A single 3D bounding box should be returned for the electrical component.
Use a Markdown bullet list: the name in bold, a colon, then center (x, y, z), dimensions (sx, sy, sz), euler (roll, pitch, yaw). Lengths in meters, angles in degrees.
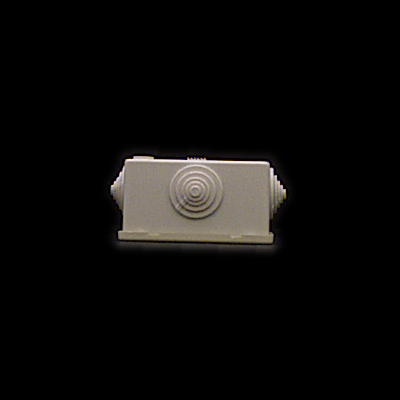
- **electrical component**: center (0.000, 0.000, 0.651), dimensions (0.100, 0.048, 0.099), euler (1, 0, 3)
